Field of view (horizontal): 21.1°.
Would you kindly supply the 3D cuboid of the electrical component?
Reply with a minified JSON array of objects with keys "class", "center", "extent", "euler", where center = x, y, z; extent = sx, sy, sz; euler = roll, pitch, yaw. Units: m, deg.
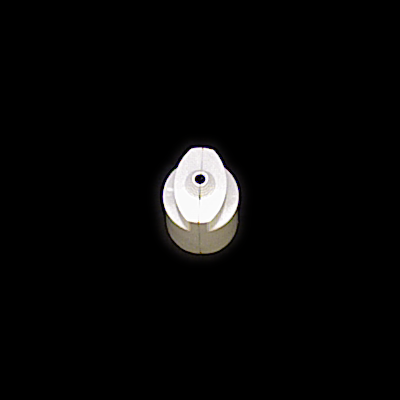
[{"class":"electrical component","center":[0.000,0.000,0.616],"extent":[0.043,0.043,0.080],"euler":[0,-17,0]}]
